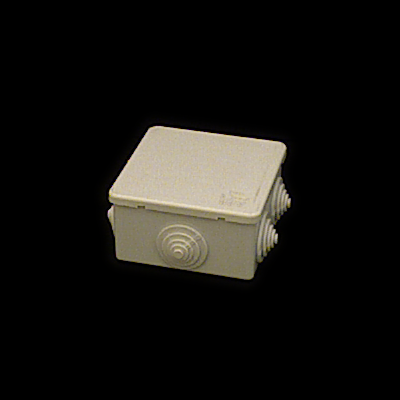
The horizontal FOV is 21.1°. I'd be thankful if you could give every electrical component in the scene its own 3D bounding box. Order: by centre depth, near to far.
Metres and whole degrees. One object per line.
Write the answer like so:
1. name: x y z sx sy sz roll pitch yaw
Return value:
1. electrical component: 0.000 0.000 0.644 0.099 0.049 0.099 9 33 12
